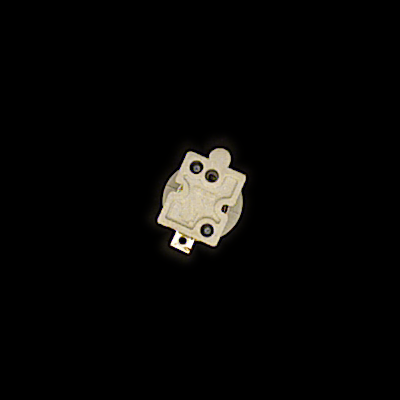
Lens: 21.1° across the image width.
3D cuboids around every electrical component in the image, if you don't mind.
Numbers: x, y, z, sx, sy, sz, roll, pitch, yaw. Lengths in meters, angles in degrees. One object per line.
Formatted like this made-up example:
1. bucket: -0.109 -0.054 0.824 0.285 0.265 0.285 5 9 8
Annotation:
1. electrical component: 0.000 0.000 0.639 0.048 0.066 0.055 24 -4 2
